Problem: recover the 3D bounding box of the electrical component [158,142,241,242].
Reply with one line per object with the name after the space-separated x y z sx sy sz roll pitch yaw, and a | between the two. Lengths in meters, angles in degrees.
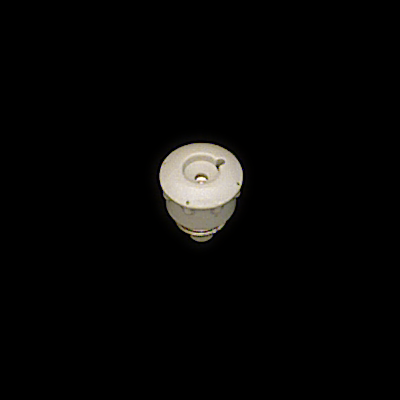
0.000 0.000 0.636 0.048 0.048 0.062 0 -37 0 | electrical component
